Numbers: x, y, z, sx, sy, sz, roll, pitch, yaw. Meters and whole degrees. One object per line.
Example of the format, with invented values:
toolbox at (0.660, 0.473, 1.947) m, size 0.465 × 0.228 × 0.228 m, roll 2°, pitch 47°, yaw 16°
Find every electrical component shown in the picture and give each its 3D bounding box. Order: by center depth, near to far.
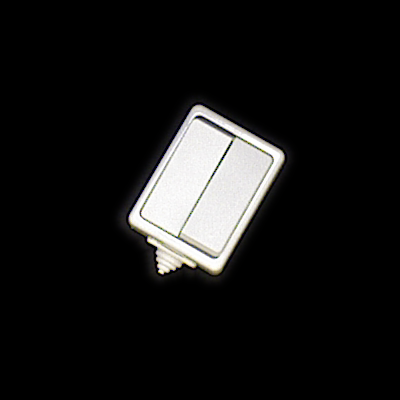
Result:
electrical component at (0.000, 0.000, 0.626) m, size 0.062 × 0.096 × 0.061 m, roll 30°, pitch -6°, yaw 4°
